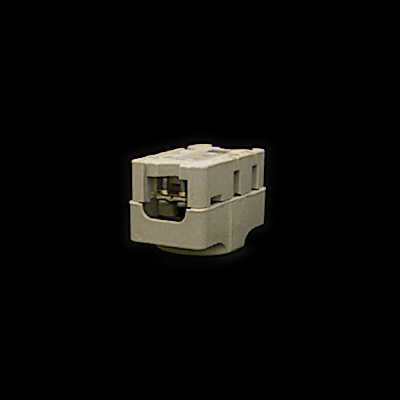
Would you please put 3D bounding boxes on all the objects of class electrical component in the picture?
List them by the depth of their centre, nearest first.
[{"bbox_3d":[0.000,0.000,0.651,0.050,0.056,0.090,6,12,26],"label":"electrical component"}]
